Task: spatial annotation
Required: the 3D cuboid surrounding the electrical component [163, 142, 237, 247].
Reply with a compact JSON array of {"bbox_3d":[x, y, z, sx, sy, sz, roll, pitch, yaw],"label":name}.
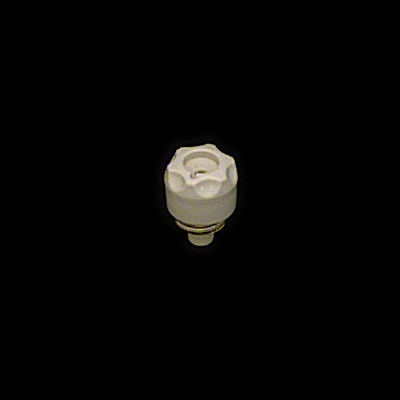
[{"bbox_3d":[0.000,0.000,0.639,0.043,0.062,0.043,0,42,0],"label":"electrical component"}]
